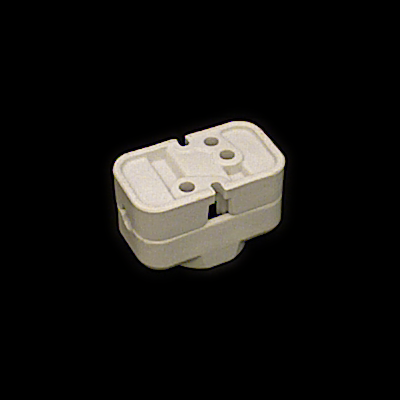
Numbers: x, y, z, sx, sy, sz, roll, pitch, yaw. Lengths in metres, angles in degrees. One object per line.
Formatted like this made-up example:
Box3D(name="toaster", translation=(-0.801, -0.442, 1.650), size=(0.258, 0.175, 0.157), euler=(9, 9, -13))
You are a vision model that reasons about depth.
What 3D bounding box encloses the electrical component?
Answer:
Box3D(name="electrical component", translation=(0.000, 0.000, 0.639), size=(0.096, 0.060, 0.053), euler=(-19, 46, -20))
